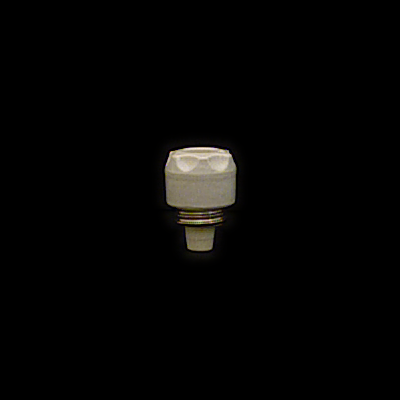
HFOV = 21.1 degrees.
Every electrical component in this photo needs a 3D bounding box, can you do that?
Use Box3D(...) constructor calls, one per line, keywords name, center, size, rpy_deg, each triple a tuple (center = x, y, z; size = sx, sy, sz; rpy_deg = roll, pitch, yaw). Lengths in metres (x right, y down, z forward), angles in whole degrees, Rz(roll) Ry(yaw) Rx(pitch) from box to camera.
Box3D(name="electrical component", center=(0.000, 0.000, 0.651), size=(0.043, 0.062, 0.043), rpy_deg=(0, 12, 0))
